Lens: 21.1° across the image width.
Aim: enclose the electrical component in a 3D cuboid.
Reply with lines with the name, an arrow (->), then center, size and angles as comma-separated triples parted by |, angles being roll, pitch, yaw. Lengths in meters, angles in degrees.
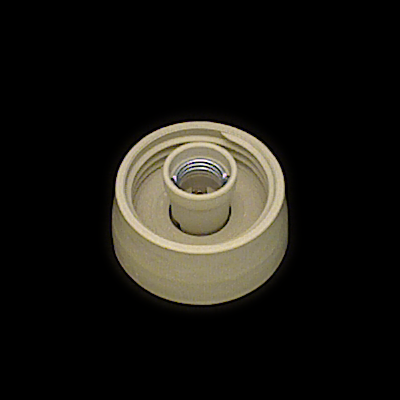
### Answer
electrical component -> 0.000, 0.000, 0.636 | 0.108, 0.107, 0.060 | 0, -37, 0
